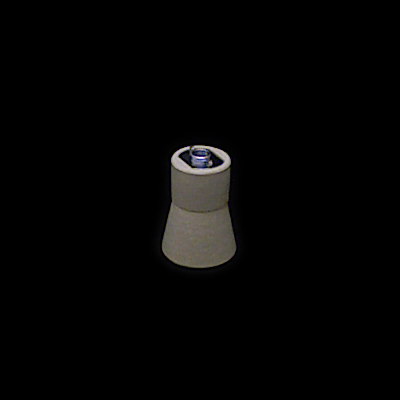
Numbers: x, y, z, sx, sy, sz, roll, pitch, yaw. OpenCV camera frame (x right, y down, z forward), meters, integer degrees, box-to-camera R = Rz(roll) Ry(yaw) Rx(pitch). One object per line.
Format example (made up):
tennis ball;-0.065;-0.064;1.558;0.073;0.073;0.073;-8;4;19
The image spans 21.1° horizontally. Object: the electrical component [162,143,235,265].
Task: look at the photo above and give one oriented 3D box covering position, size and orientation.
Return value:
electrical component;0.000;0.000;0.633;0.044;0.066;0.044;1;31;-1
